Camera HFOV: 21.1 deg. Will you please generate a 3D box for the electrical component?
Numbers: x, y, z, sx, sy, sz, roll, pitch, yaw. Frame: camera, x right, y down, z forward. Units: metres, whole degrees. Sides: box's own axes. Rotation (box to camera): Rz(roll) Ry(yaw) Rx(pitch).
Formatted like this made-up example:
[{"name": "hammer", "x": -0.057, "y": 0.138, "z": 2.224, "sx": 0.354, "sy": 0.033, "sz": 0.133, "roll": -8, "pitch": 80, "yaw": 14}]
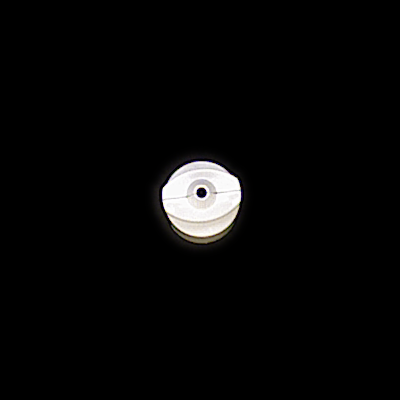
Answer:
[{"name": "electrical component", "x": 0.000, "y": 0.000, "z": 0.616, "sx": 0.043, "sy": 0.043, "sz": 0.080, "roll": 0, "pitch": -6, "yaw": 1}]
